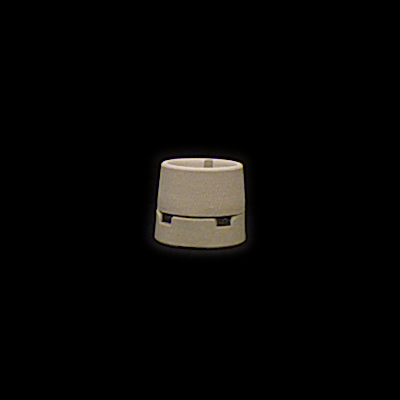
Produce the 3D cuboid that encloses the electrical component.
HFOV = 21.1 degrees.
[{"bbox_3d":[0.000,0.000,0.648,0.055,0.047,0.055,2,10,0],"label":"electrical component"}]
